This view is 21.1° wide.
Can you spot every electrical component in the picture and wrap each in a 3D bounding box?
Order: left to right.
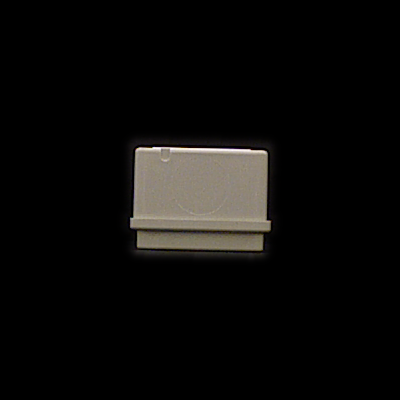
[{"bbox_3d":[0.000,0.000,0.650,0.078,0.057,0.113,1,0,0],"label":"electrical component"}]
